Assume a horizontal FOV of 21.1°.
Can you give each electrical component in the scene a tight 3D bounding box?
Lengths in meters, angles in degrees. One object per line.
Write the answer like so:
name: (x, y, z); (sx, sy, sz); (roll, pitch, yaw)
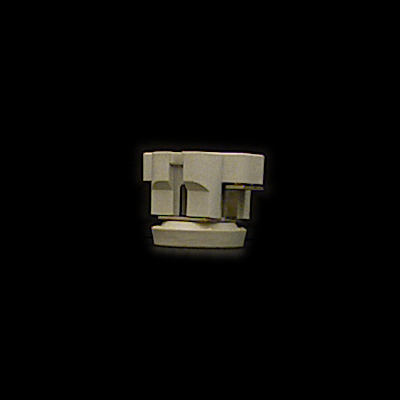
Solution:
electrical component: (0.000, 0.000, 0.657); (0.078, 0.057, 0.058); (4, 2, 35)
